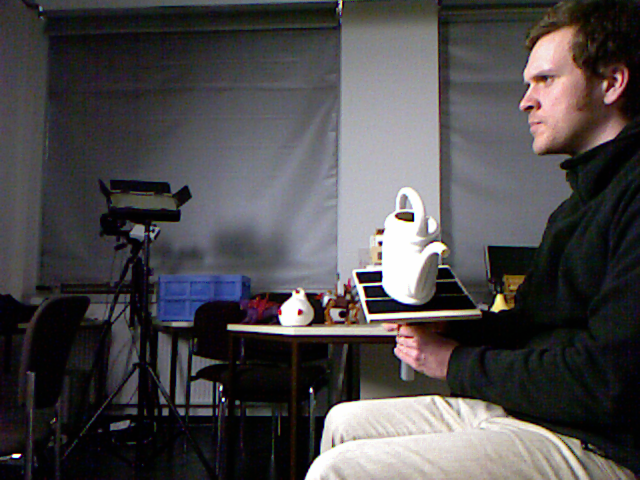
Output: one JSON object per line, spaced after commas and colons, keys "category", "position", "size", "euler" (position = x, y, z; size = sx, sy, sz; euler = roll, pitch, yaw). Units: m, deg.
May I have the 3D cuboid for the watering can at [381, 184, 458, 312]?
{"category": "watering can", "position": [0.172, 0.031, 0.932], "size": [0.104, 0.221, 0.354], "euler": [-3, 23, -3]}
